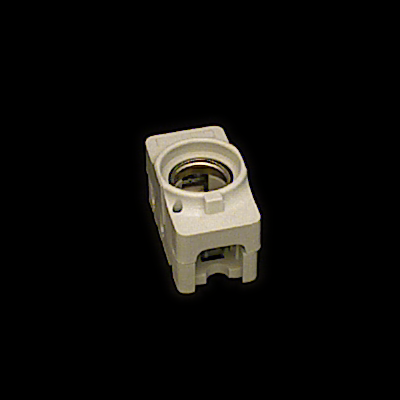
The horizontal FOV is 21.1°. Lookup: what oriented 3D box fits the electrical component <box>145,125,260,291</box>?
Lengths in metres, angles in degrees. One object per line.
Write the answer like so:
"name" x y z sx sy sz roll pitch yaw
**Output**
"electrical component" 0.000 0.000 0.639 0.050 0.056 0.088 -10 43 -11
